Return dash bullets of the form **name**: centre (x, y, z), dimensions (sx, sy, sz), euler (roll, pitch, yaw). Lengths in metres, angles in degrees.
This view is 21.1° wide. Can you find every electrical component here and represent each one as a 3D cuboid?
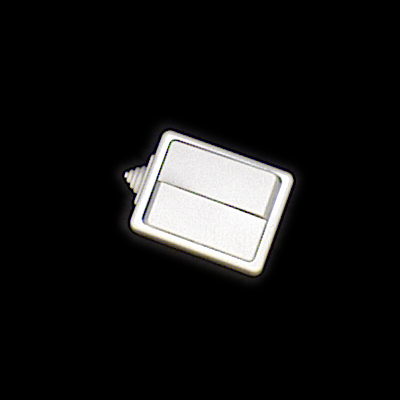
- **electrical component**: centre (0.000, 0.000, 0.627), dimensions (0.096, 0.062, 0.061), euler (20, -6, 3)
